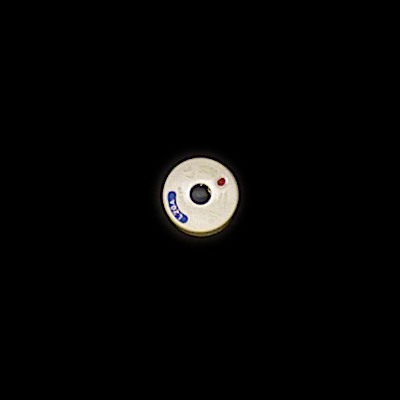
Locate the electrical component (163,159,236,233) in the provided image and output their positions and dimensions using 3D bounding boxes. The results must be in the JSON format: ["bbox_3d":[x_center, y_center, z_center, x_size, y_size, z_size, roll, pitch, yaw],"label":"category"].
[{"bbox_3d":[0.000,0.000,0.618,0.040,0.040,0.078,0,-6,0],"label":"electrical component"}]
